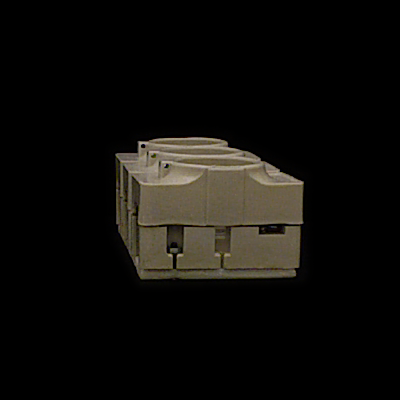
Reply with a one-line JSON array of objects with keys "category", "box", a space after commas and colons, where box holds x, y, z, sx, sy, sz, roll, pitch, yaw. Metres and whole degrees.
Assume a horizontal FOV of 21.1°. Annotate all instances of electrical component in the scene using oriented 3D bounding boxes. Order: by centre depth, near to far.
[{"category": "electrical component", "box": [0.000, 0.000, 0.649, 0.090, 0.062, 0.148, -1, 9, -10]}]
